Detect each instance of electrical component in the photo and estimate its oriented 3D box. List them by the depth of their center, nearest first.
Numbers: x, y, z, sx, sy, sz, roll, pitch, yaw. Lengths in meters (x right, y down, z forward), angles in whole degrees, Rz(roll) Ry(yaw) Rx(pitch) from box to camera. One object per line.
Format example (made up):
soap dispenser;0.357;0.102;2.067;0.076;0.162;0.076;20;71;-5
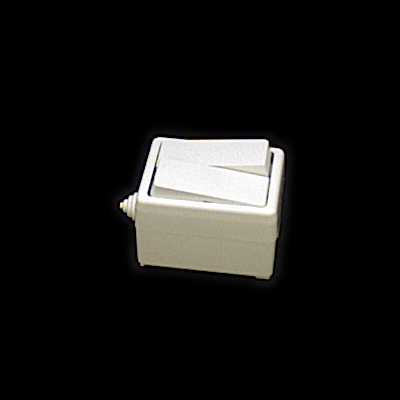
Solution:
electrical component;0.000;0.000;0.631;0.096;0.061;0.061;6;42;5
